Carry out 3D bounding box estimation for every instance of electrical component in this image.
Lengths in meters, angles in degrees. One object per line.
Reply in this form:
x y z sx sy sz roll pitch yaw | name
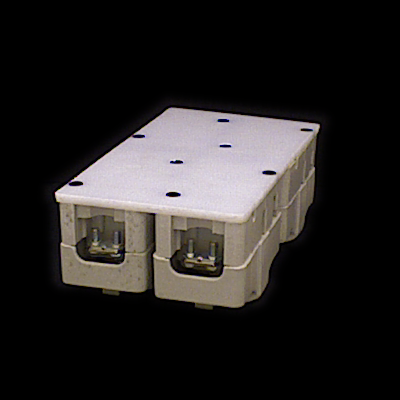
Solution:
0.000 0.000 0.638 0.105 0.061 0.184 8 21 16 | electrical component
